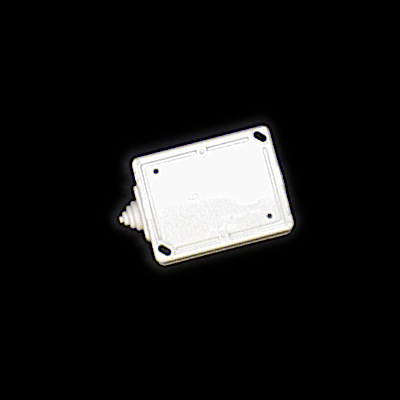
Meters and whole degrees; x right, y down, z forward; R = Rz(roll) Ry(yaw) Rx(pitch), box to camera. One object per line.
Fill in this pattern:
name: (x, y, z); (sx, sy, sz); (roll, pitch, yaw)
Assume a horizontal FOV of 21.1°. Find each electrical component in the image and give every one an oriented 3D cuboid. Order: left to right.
electrical component: (0.000, 0.000, 0.626); (0.096, 0.062, 0.061); (-15, -6, -1)
